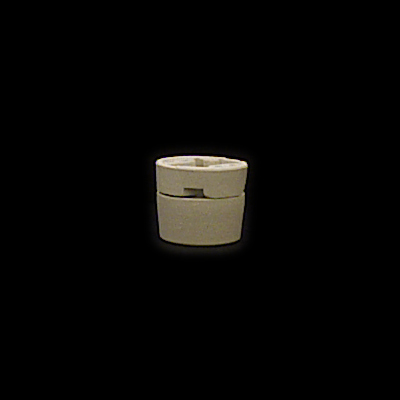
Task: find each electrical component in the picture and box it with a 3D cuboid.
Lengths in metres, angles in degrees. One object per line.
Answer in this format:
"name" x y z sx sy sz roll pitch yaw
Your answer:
"electrical component" 0.000 0.000 0.647 0.055 0.047 0.055 1 11 0
